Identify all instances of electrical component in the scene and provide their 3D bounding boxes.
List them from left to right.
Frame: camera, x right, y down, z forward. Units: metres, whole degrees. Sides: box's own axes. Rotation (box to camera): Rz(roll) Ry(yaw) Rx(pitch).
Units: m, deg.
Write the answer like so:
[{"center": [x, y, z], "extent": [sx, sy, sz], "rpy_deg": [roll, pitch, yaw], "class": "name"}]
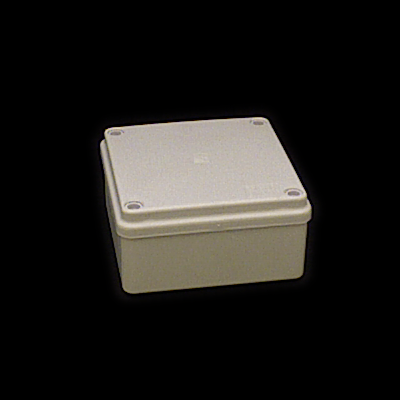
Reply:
[{"center": [0.000, 0.000, 0.636], "extent": [0.109, 0.057, 0.107], "rpy_deg": [-5, 31, -9], "class": "electrical component"}]
